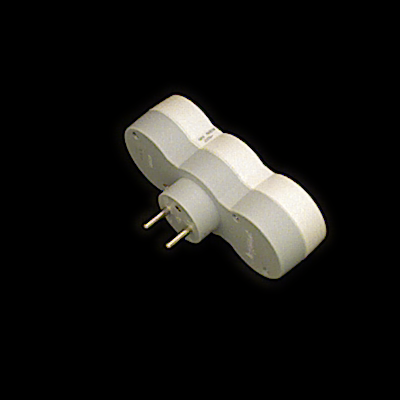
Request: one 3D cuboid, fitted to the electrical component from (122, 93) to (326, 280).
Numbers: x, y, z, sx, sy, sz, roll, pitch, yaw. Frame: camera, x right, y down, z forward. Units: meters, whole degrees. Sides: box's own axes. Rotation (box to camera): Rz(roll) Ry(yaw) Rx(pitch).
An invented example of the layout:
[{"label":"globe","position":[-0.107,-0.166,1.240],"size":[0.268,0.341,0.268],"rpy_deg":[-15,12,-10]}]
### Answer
[{"label":"electrical component","position":[0.000,0.000,0.638],"size":[0.074,0.052,0.137],"rpy_deg":[-38,62,-24]}]
